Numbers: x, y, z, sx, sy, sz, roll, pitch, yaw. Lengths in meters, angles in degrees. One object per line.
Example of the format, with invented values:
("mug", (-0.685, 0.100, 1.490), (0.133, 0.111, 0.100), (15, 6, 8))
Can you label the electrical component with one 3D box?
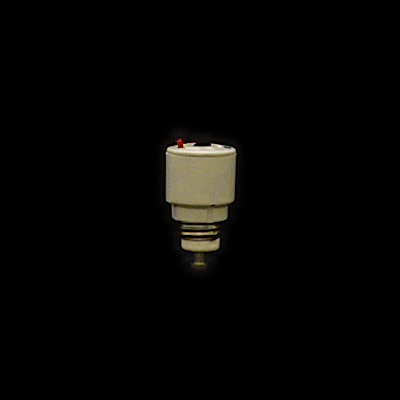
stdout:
("electrical component", (0.000, 0.000, 0.642), (0.040, 0.079, 0.040), (1, 12, 0))
